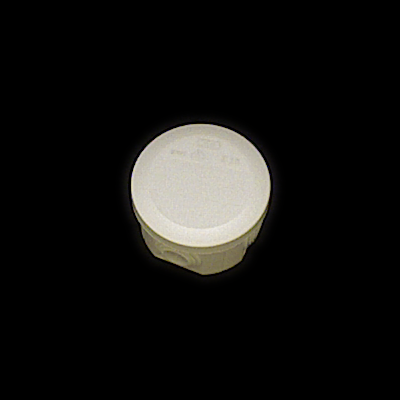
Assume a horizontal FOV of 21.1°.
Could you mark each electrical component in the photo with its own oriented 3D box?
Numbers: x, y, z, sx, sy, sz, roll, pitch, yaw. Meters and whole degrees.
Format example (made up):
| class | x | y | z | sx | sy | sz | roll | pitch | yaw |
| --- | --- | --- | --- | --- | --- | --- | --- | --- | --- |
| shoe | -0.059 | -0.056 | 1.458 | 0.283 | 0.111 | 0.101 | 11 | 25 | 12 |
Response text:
| class | x | y | z | sx | sy | sz | roll | pitch | yaw |
| --- | --- | --- | --- | --- | --- | --- | --- | --- | --- |
| electrical component | 0.000 | 0.000 | 0.630 | 0.080 | 0.080 | 0.050 | 0 | -27 | 0 |
